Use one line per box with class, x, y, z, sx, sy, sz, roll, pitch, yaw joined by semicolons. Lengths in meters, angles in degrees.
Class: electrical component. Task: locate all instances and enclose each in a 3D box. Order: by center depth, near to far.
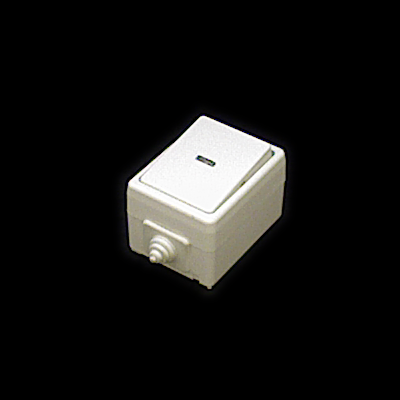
electrical component;0.000;0.000;0.629;0.061;0.061;0.096;25;47;25
